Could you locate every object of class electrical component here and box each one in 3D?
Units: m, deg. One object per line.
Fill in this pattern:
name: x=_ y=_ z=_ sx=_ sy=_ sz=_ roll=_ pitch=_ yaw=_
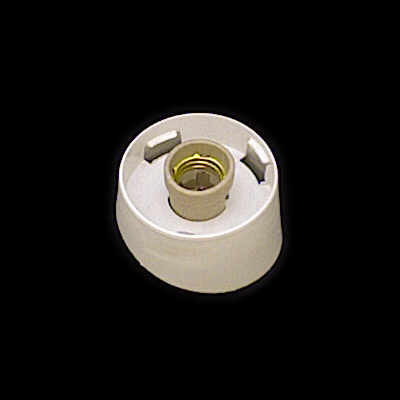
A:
electrical component: x=0.000 y=0.000 z=0.626 sx=0.099 sy=0.098 sz=0.064 roll=0 pitch=-37 yaw=-1
